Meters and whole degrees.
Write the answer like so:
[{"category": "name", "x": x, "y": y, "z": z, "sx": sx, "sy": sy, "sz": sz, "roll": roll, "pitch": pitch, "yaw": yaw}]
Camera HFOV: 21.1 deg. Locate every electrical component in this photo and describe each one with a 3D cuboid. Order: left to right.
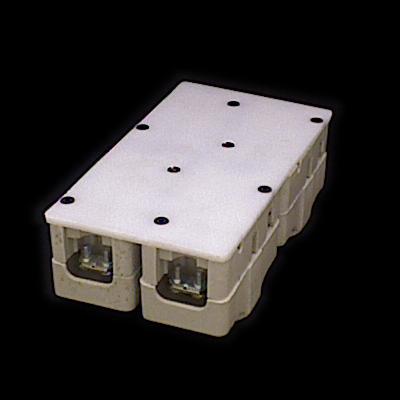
[{"category": "electrical component", "x": 0.000, "y": 0.000, "z": 0.633, "sx": 0.105, "sy": 0.061, "sz": 0.184, "roll": 13, "pitch": 33, "yaw": 19}]
